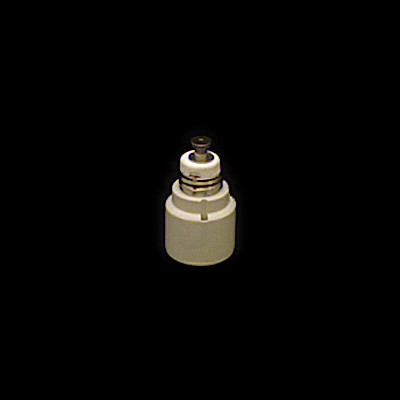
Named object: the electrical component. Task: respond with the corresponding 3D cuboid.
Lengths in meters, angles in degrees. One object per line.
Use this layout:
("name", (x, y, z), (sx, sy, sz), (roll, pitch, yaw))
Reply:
("electrical component", (0.000, 0.000, 0.628), (0.040, 0.079, 0.039), (0, 30, 0))
